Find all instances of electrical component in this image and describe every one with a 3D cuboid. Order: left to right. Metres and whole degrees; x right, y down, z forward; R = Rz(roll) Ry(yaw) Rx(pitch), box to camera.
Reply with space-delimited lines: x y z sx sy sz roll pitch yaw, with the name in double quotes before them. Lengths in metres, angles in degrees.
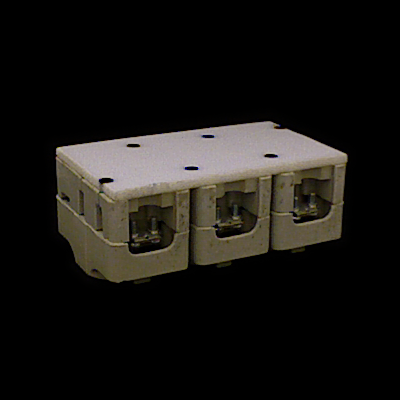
"electrical component" 0.000 0.000 0.642 0.150 0.063 0.088 -10 23 -26
